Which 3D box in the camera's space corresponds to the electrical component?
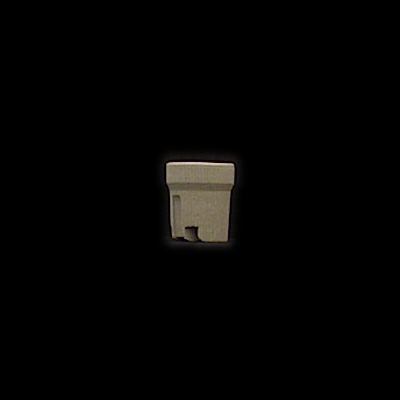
[{"bbox_3d":[0.000,0.000,0.647,0.040,0.046,0.040,1,1,1],"label":"electrical component"}]
